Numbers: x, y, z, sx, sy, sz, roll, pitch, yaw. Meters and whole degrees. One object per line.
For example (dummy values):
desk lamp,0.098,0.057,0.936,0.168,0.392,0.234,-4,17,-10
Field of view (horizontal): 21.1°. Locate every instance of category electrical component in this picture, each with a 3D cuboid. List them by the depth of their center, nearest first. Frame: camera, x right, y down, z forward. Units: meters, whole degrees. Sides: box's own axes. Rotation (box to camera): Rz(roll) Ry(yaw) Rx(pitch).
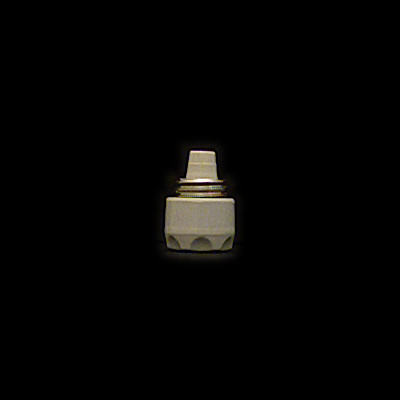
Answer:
electrical component,0.000,0.000,0.655,0.043,0.062,0.043,2,3,0
